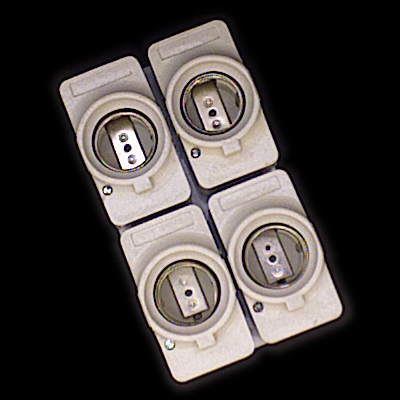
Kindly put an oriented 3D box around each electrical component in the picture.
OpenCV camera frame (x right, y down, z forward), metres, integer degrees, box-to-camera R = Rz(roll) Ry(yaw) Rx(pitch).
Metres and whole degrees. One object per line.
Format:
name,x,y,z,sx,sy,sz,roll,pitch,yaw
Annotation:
electrical component,0.000,0.000,0.626,0.105,0.186,0.060,-22,-6,-3
